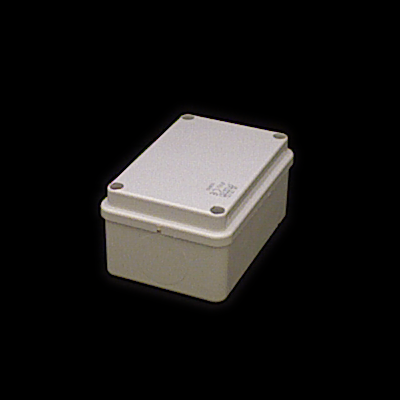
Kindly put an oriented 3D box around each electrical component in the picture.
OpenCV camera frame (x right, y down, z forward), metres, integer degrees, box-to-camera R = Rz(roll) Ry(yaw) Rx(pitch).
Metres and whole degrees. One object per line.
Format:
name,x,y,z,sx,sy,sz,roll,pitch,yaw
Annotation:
electrical component,0.000,0.000,0.634,0.078,0.058,0.112,13,33,20
